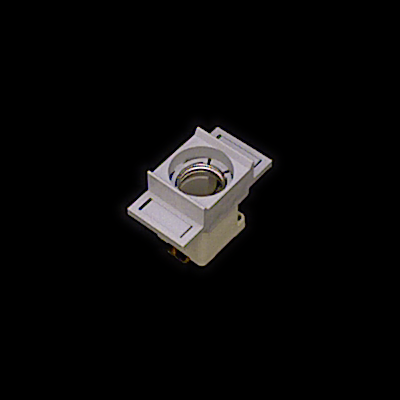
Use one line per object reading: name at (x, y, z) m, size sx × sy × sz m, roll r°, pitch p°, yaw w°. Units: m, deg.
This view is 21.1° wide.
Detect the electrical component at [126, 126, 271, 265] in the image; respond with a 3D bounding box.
electrical component at (0.000, 0.000, 0.627) m, size 0.042 × 0.064 × 0.081 m, roll 33°, pitch 59°, yaw 24°
